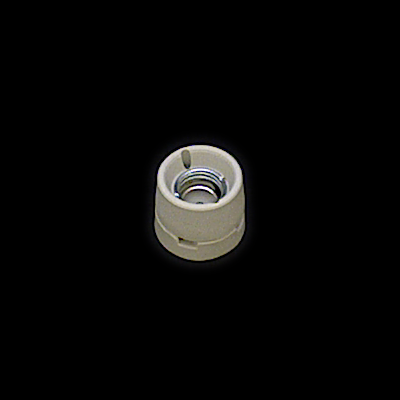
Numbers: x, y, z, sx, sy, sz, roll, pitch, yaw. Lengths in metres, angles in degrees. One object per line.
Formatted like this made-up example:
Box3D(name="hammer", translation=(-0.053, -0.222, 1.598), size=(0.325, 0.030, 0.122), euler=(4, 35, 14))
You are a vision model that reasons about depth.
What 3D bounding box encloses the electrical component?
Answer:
Box3D(name="electrical component", translation=(0.000, 0.000, 0.635), size=(0.055, 0.055, 0.047), euler=(0, -38, 0))
